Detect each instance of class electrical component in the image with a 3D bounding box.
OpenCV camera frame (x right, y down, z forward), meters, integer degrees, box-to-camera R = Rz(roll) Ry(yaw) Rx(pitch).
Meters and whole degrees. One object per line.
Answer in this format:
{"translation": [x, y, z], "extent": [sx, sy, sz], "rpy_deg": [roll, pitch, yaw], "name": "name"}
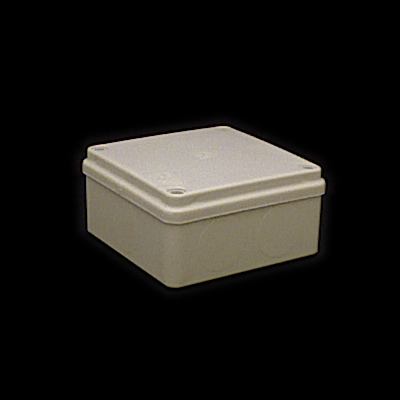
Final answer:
{"translation": [0.000, 0.000, 0.641], "extent": [0.109, 0.057, 0.107], "rpy_deg": [-11, 24, -31], "name": "electrical component"}
